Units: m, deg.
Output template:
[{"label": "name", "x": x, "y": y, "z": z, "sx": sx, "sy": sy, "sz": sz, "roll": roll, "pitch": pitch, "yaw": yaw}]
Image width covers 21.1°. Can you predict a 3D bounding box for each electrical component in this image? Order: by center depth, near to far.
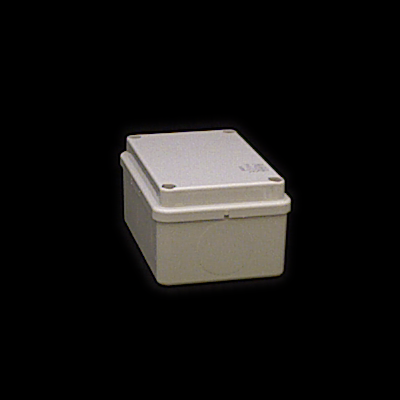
[{"label": "electrical component", "x": 0.000, "y": 0.000, "z": 0.639, "sx": 0.078, "sy": 0.058, "sz": 0.111, "roll": -4, "pitch": 21, "yaw": -14}]
